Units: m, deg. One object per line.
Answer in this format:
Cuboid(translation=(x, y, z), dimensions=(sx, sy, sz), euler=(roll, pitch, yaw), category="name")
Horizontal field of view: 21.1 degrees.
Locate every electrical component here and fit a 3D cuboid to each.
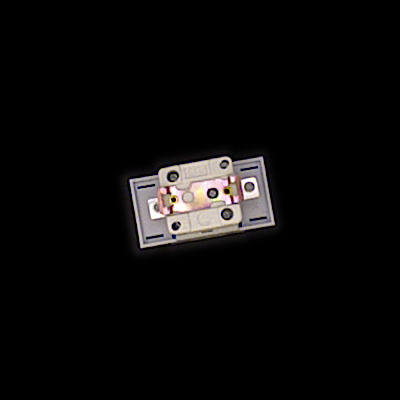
Cuboid(translation=(0.000, 0.000, 0.626), dimensions=(0.081, 0.042, 0.063), euler=(-10, -6, -1), category="electrical component")
